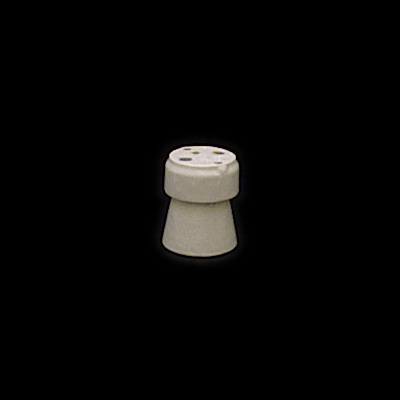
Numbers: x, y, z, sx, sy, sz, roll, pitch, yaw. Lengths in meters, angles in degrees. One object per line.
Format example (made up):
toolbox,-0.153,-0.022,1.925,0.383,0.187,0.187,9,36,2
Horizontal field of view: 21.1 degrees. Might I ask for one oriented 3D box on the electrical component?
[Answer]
electrical component,0.000,0.000,0.641,0.045,0.056,0.044,2,22,0
